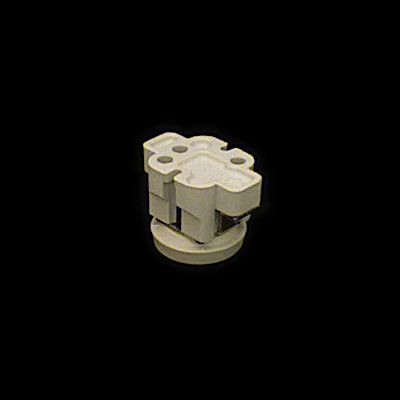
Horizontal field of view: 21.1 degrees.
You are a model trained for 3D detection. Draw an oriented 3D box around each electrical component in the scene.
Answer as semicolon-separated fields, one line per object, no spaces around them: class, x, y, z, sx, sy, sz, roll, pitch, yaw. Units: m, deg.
electrical component;0.000;0.000;0.642;0.077;0.057;0.058;28;41;34
